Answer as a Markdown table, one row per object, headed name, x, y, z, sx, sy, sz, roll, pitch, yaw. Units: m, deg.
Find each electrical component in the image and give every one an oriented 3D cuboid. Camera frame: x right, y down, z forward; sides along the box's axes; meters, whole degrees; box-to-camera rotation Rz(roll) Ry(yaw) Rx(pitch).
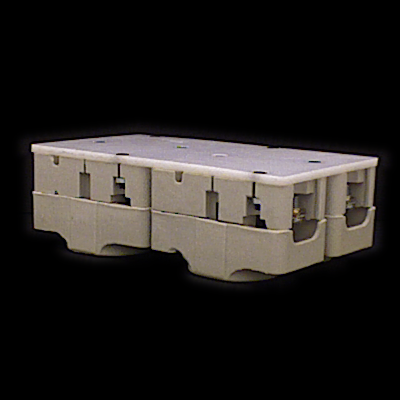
| name | x | y | z | sx | sy | sz | roll | pitch | yaw |
| --- | --- | --- | --- | --- | --- | --- | --- | --- | --- |
| electrical component | 0.000 | 0.000 | 0.644 | 0.185 | 0.061 | 0.105 | 9 | 13 | 36 |
